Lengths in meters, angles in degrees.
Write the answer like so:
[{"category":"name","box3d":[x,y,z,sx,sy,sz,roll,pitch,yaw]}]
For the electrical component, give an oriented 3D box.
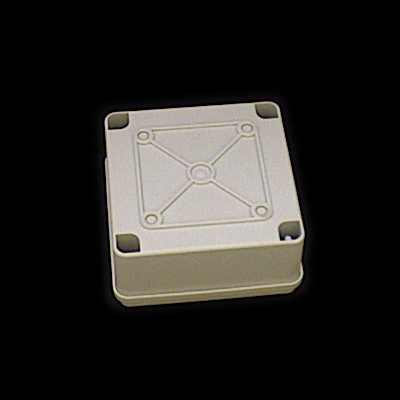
[{"category":"electrical component","box3d":[0.000,0.000,0.629,0.109,0.108,0.056,-4,-37,-4]}]
